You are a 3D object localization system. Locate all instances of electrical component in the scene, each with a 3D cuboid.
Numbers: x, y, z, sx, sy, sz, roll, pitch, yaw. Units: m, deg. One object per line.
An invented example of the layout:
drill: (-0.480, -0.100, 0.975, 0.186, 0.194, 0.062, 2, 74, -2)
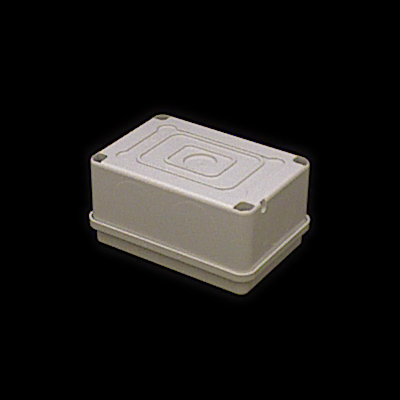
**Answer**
electrical component: (0.000, 0.000, 0.635, 0.112, 0.058, 0.078, 19, 36, 28)
